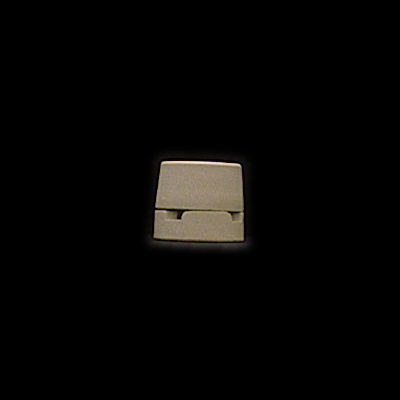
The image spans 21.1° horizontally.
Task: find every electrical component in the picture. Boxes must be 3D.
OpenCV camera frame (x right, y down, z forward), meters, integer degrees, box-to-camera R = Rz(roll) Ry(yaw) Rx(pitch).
[{"bbox_3d":[0.000,0.000,0.650,0.055,0.047,0.055,2,1,0],"label":"electrical component"}]
